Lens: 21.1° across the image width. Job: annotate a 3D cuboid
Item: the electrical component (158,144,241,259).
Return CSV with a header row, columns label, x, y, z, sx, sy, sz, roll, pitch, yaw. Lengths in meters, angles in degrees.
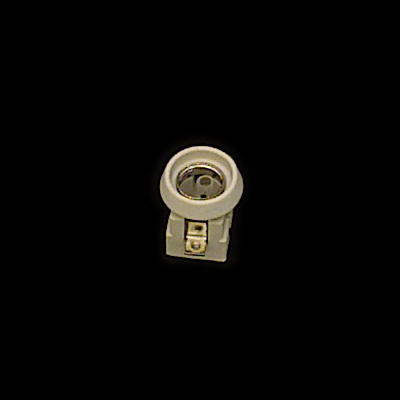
label,x,y,z,sx,sy,sz,roll,pitch,yaw
electrical component,0.000,0.000,0.637,0.048,0.066,0.056,4,-37,5
